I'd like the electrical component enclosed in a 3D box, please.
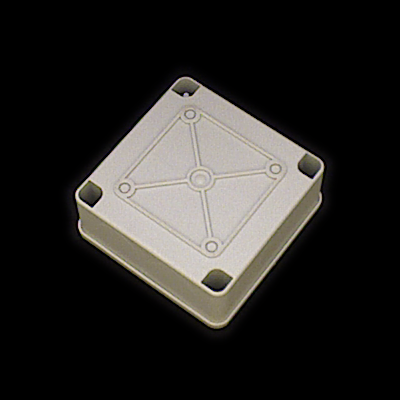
[{"bbox_3d":[0.000,0.000,0.629,0.108,0.109,0.056,34,-23,16],"label":"electrical component"}]
